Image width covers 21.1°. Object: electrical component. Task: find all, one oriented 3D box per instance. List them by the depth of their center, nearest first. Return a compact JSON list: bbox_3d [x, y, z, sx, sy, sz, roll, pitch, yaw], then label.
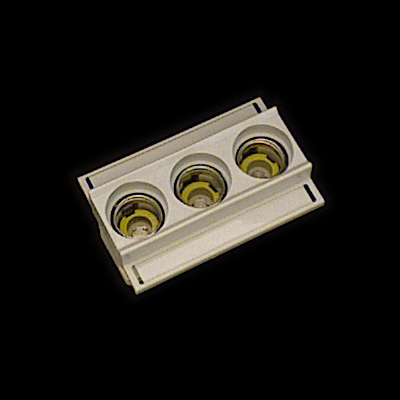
[{"bbox_3d":[0.000,0.000,0.637,0.121,0.078,0.063,-25,-23,-12],"label":"electrical component"}]
